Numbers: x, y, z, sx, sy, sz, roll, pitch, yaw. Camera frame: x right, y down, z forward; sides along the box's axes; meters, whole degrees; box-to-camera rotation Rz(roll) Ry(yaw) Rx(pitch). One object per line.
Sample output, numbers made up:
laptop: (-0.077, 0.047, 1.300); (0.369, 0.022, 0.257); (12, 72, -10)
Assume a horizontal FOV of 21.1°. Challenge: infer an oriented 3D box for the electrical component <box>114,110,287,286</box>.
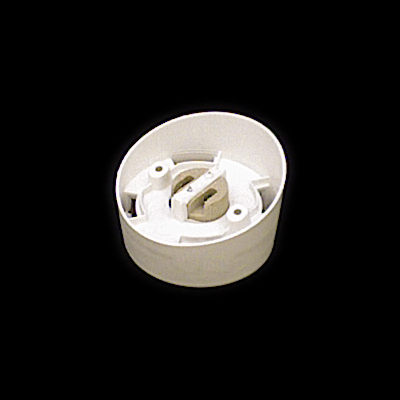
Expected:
electrical component: (0.000, 0.000, 0.630); (0.099, 0.065, 0.097); (1, 41, 0)
